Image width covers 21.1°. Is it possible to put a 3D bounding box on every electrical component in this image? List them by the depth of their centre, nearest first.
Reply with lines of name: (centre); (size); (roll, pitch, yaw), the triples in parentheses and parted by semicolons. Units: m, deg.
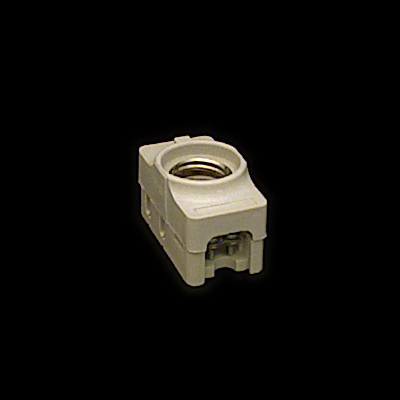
electrical component: (0.000, 0.000, 0.643); (0.050, 0.056, 0.088); (-12, 35, -20)
